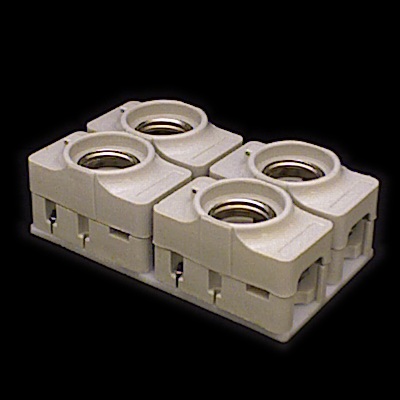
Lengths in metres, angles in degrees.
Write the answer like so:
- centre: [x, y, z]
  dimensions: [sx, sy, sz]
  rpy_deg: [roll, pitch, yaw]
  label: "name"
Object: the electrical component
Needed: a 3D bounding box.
- centre: [0.000, 0.000, 0.633]
  dimensions: [0.185, 0.061, 0.105]
  rpy_deg: [21, 36, 29]
  label: "electrical component"
